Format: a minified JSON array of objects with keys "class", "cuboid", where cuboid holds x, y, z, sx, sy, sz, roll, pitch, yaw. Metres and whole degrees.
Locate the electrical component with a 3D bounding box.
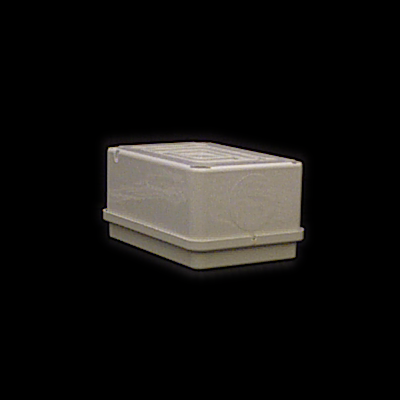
[{"class":"electrical component","cuboid":[0.000,0.000,0.644,0.078,0.057,0.112,-5,13,-32]}]
